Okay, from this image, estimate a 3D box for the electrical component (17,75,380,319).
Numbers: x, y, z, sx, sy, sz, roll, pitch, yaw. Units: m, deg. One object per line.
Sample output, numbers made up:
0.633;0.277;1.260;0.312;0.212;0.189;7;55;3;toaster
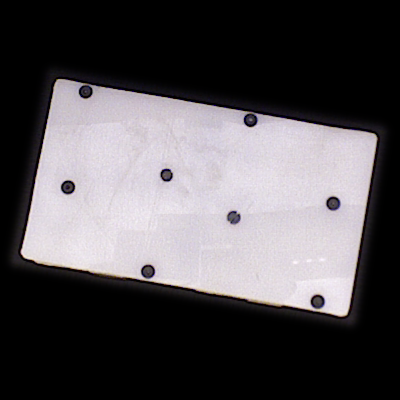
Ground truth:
0.000;0.000;0.626;0.186;0.106;0.060;10;-6;1;electrical component
